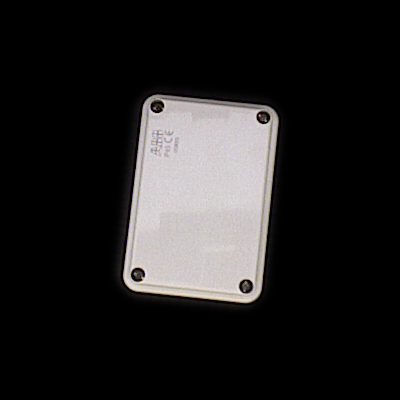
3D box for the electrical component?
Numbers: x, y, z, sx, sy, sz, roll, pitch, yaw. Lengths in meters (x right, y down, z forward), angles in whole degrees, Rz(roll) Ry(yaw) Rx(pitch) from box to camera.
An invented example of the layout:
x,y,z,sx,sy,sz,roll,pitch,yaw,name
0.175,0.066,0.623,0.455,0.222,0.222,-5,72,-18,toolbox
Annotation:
x,y,z,sx,sy,sz,roll,pitch,yaw,name
0.000,0.000,0.628,0.078,0.113,0.057,6,-6,1,electrical component
